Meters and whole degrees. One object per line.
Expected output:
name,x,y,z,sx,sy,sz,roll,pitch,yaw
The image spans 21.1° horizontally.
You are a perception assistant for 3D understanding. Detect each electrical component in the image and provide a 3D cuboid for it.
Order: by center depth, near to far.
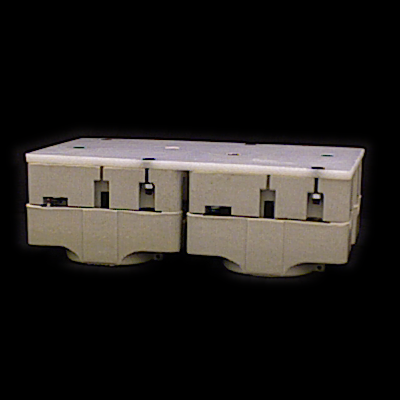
electrical component,0.000,0.000,0.644,0.186,0.061,0.105,3,10,12
